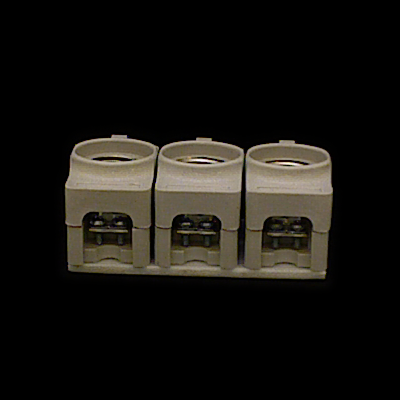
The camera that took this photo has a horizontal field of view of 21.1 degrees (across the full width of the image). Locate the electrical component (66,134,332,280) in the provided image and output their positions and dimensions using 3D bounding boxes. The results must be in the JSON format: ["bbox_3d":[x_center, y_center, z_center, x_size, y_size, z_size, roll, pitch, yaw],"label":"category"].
[{"bbox_3d":[0.000,0.000,0.646,0.150,0.063,0.088,2,20,1],"label":"electrical component"}]
